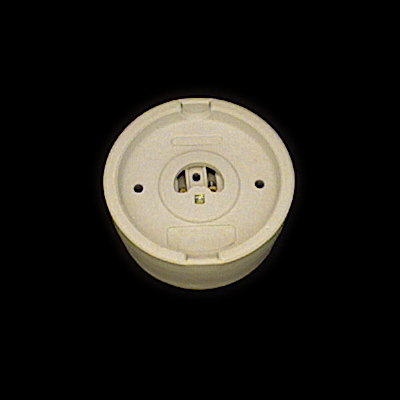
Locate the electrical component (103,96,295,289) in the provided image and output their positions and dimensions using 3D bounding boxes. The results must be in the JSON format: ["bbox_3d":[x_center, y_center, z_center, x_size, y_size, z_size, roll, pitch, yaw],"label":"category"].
[{"bbox_3d":[0.000,0.000,0.632,0.108,0.108,0.060,0,-27,0],"label":"electrical component"}]
